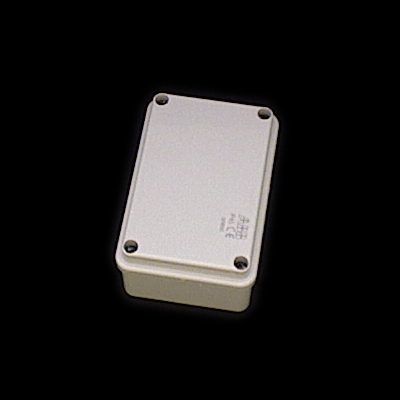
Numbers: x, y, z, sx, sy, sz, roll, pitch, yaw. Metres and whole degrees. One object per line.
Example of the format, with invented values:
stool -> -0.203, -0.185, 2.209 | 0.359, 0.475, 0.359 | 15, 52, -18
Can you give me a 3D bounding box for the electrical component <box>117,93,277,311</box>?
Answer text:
electrical component -> 0.000, 0.000, 0.627 | 0.078, 0.113, 0.057 | 8, -27, 4
